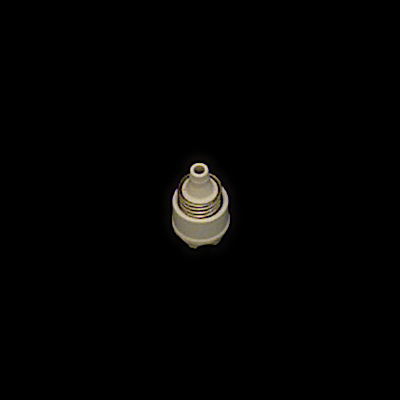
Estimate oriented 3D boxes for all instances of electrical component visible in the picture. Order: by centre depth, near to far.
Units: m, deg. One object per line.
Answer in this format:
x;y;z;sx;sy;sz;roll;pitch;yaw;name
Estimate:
0.000;0.000;0.640;0.035;0.035;0.062;0;-36;2;electrical component
